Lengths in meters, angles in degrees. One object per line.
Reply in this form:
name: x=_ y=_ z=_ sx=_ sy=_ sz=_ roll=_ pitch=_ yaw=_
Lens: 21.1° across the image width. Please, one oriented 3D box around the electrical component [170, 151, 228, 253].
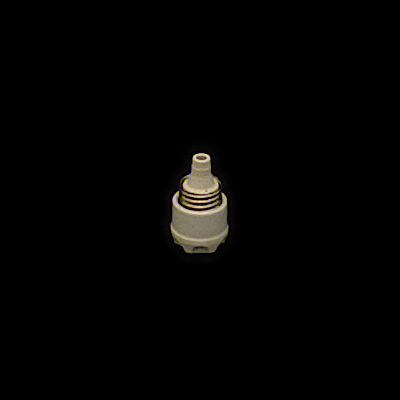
electrical component: x=0.000 y=0.000 z=0.648 sx=0.035 sy=0.062 sz=0.034 roll=2 pitch=33 yaw=-1
